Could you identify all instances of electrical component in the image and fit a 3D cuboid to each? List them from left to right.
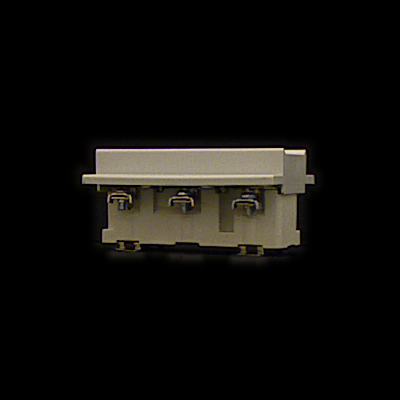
[{"bbox_3d":[0.000,0.000,0.660,0.121,0.063,0.079,1,2,23],"label":"electrical component"}]
